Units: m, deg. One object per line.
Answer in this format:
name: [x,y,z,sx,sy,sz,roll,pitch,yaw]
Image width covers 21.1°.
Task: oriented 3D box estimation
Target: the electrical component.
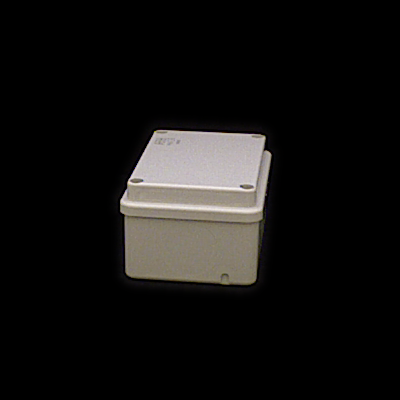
electrical component: [0.000,0.000,0.639,0.078,0.058,0.112,3,21,5]
